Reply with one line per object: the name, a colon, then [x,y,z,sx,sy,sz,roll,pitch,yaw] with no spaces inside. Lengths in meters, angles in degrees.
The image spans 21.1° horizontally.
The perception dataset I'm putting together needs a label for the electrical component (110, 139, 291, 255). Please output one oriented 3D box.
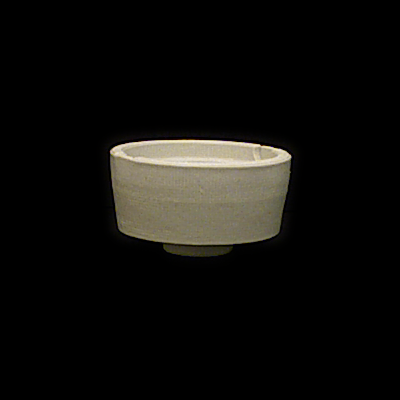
electrical component: [0.000,0.000,0.647,0.108,0.061,0.107,2,11,0]
